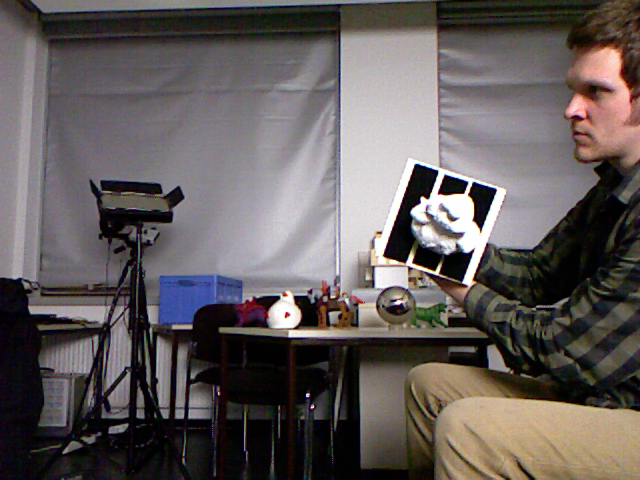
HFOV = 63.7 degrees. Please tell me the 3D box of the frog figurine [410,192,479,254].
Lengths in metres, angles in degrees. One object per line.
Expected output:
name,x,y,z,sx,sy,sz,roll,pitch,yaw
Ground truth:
frog figurine,0.240,-0.030,0.972,0.138,0.123,0.161,38,5,-4
